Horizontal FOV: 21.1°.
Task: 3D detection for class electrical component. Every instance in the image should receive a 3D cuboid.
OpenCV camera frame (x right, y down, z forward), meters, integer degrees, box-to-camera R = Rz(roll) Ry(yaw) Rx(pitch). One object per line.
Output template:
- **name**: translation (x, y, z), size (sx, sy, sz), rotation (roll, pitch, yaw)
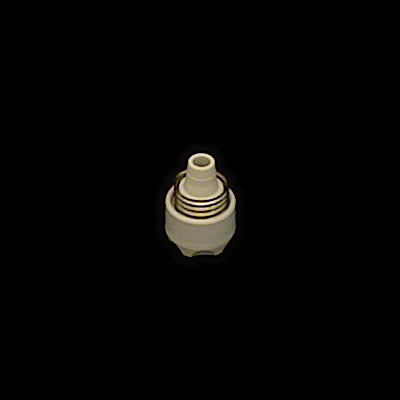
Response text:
- **electrical component**: translation (0.000, 0.000, 0.638), size (0.043, 0.062, 0.043), rotation (1, 41, 0)
